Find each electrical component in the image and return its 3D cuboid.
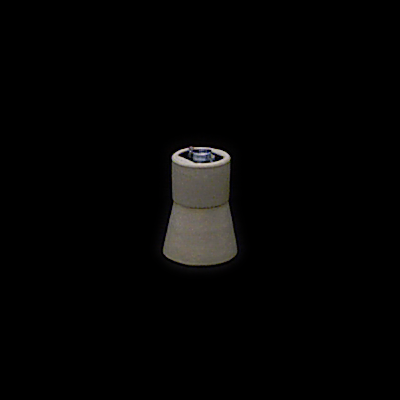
[{"bbox_3d":[0.000,0.000,0.637,0.044,0.066,0.044,0,22,0],"label":"electrical component"}]
